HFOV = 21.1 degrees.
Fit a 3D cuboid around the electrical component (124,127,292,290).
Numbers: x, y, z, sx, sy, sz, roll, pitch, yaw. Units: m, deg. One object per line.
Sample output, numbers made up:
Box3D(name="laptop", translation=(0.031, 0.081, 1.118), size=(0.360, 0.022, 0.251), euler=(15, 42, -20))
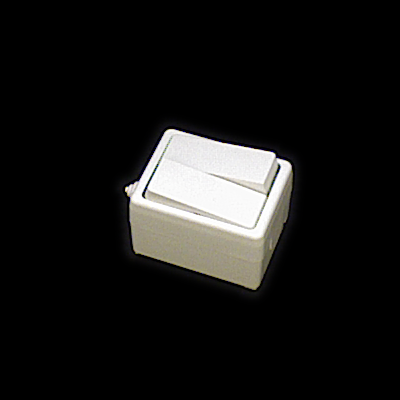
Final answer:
Box3D(name="electrical component", translation=(0.000, 0.000, 0.629), size=(0.096, 0.062, 0.061), euler=(17, -36, 12))
